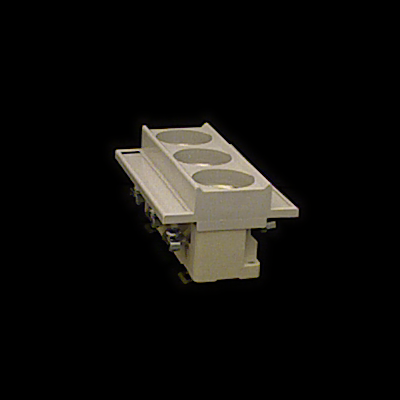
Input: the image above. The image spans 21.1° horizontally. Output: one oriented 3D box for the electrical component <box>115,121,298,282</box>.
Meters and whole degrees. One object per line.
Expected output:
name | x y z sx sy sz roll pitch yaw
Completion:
electrical component | 0.000 0.000 0.653 0.079 0.064 0.119 -4 22 -16
